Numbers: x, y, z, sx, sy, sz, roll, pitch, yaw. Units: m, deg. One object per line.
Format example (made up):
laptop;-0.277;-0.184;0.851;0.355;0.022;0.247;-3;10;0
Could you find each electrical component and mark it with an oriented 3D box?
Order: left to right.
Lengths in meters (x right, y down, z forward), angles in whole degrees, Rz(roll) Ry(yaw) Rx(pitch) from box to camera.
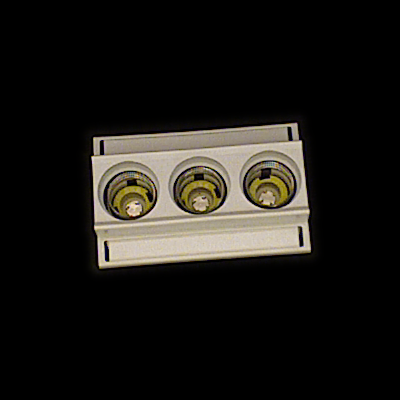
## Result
electrical component;0.000;0.000;0.637;0.121;0.079;0.063;-4;-18;0
